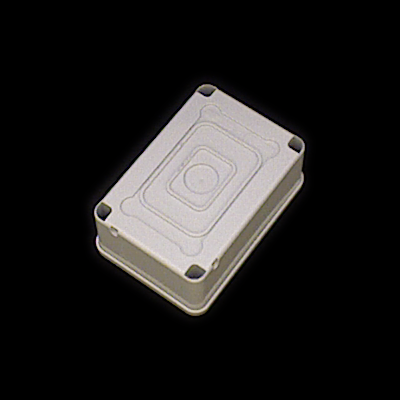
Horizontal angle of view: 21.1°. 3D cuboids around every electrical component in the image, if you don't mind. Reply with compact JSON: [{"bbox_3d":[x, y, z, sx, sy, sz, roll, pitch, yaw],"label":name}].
[{"bbox_3d":[0.000,0.000,0.628,0.078,0.113,0.057,33,-23,16],"label":"electrical component"}]
